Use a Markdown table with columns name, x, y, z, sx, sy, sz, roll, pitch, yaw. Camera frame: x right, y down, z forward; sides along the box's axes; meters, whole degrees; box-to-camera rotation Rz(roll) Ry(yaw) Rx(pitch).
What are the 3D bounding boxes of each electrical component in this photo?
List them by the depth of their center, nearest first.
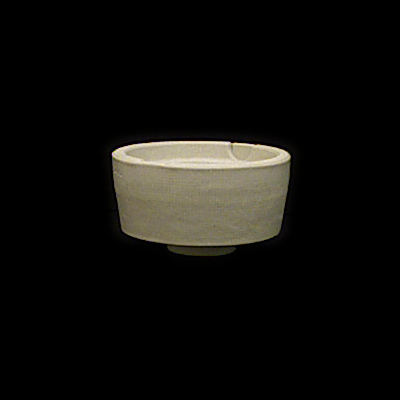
| name | x | y | z | sx | sy | sz | roll | pitch | yaw |
| --- | --- | --- | --- | --- | --- | --- | --- | --- | --- |
| electrical component | 0.000 | 0.000 | 0.655 | 0.108 | 0.061 | 0.107 | 1 | 11 | 0 |
